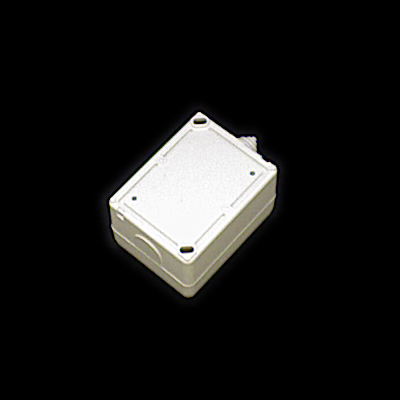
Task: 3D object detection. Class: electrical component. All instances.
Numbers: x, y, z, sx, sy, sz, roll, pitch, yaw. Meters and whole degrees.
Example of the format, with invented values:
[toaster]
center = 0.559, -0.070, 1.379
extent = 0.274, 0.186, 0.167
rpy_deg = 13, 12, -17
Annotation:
[electrical component]
center = 0.000, 0.000, 0.629
extent = 0.061, 0.096, 0.061
rpy_deg = 37, -22, 18
